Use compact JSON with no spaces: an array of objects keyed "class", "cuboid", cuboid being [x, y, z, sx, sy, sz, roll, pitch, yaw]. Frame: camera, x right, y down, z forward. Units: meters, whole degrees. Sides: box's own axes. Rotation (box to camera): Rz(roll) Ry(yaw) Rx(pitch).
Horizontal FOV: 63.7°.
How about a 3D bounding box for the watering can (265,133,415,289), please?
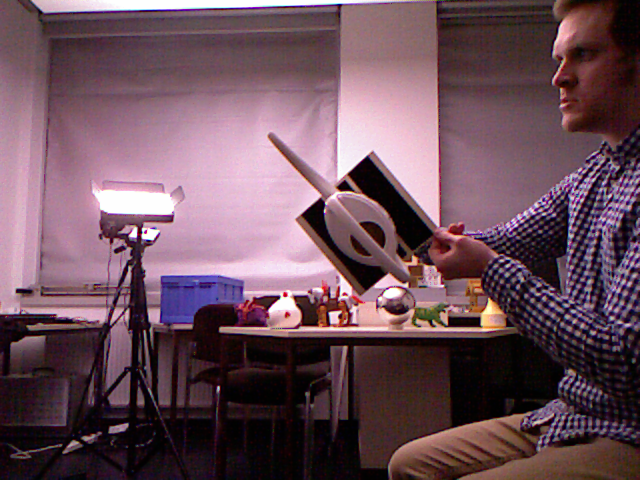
[{"class":"watering can","cuboid":[0.046,-0.056,0.920,0.104,0.349,0.226,-42,-1,9]}]
